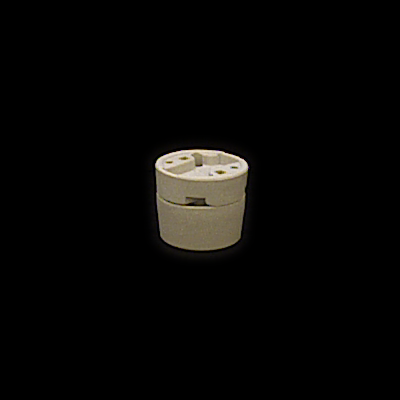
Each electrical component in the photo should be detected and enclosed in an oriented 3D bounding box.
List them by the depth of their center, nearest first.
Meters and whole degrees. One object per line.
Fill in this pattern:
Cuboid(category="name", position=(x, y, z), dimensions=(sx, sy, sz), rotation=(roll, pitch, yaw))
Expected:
Cuboid(category="electrical component", position=(0.000, 0.000, 0.643), dimensions=(0.055, 0.047, 0.055), rotation=(1, 22, 0))
